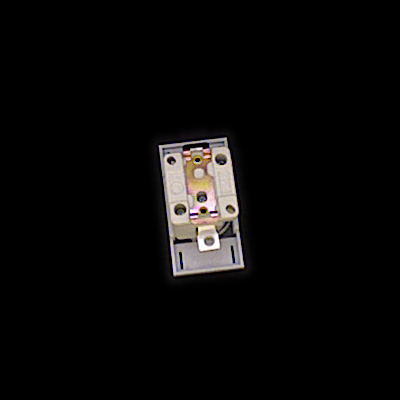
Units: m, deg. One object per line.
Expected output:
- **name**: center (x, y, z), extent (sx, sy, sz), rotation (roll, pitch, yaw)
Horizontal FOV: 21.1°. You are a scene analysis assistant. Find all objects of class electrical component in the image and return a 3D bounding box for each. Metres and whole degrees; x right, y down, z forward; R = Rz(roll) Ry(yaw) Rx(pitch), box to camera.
- **electrical component**: center (0.000, 0.000, 0.625), extent (0.042, 0.081, 0.063), rotation (-7, -16, -2)
